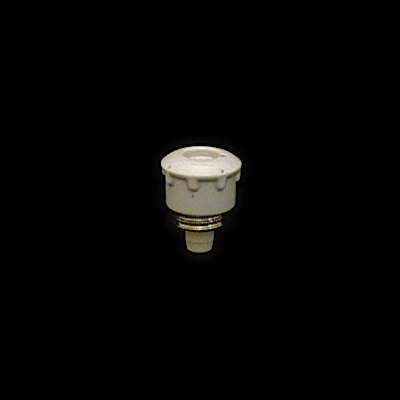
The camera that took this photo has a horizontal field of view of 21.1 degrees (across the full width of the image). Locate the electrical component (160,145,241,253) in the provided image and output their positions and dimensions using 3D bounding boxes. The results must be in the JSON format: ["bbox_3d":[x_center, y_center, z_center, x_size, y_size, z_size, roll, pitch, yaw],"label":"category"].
[{"bbox_3d":[0.000,0.000,0.648,0.048,0.063,0.047,1,22,0],"label":"electrical component"}]
